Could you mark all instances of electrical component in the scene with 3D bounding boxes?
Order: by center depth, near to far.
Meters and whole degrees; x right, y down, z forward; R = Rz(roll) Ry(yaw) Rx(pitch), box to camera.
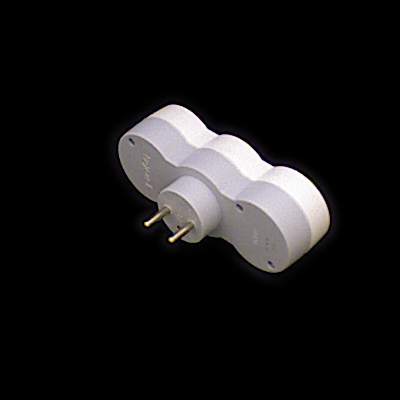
[{"bbox_3d":[0.000,0.000,0.632,0.137,0.052,0.073,32,53,28],"label":"electrical component"}]
